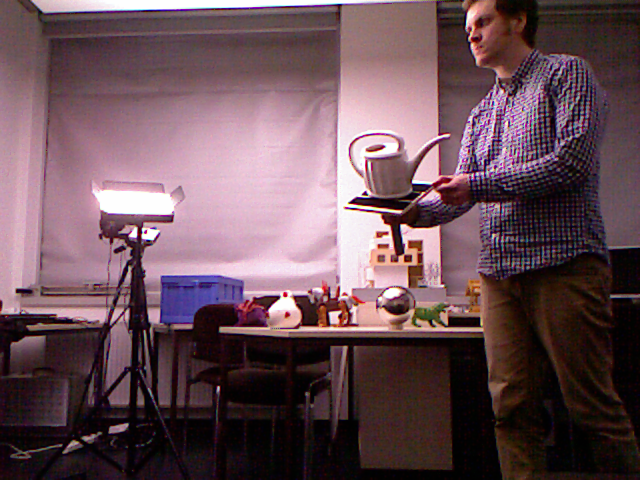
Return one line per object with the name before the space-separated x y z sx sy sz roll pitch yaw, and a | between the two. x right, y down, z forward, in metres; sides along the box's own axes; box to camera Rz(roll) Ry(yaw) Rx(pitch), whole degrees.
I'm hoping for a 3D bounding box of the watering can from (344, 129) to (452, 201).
watering can | 0.224 -0.213 1.480 0.348 0.220 0.106 9 39 37
